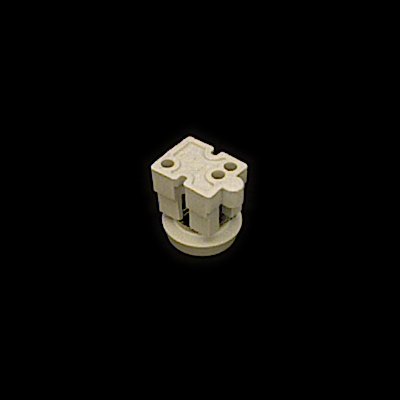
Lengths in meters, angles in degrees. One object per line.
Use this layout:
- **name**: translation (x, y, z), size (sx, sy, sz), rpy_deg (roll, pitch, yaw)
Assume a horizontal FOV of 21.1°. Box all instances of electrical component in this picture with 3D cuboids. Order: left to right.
- **electrical component**: translation (0.000, 0.000, 0.641), size (0.066, 0.056, 0.048), rpy_deg (29, 51, 28)
